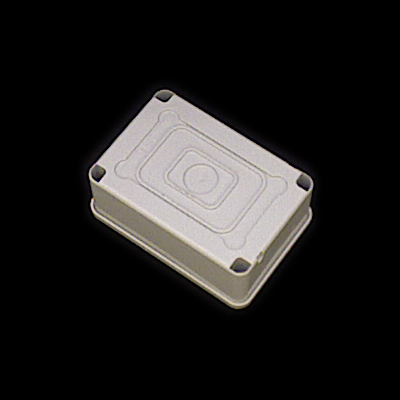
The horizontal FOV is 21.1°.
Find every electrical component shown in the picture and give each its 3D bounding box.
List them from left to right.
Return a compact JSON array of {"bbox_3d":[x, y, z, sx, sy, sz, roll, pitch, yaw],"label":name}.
[{"bbox_3d":[0.000,0.000,0.628,0.113,0.078,0.057,33,-22,16],"label":"electrical component"}]
